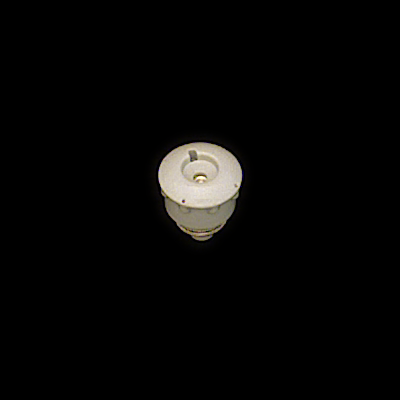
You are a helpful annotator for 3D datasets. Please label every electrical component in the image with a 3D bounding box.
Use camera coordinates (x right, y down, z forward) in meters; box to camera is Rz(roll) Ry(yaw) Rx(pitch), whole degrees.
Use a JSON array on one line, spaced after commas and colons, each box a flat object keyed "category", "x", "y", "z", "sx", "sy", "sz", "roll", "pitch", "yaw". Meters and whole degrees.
[{"category": "electrical component", "x": 0.000, "y": 0.000, "z": 0.634, "sx": 0.048, "sy": 0.048, "sz": 0.062, "roll": 0, "pitch": -37, "yaw": 0}]
